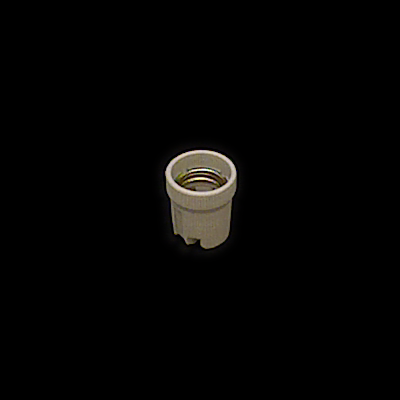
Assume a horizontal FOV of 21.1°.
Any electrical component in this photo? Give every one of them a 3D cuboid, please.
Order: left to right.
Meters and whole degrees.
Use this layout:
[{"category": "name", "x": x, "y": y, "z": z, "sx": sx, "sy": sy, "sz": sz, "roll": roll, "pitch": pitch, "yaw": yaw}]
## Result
[{"category": "electrical component", "x": 0.000, "y": 0.000, "z": 0.632, "sx": 0.040, "sy": 0.047, "sz": 0.039, "roll": 1, "pitch": 42, "yaw": 0}]
